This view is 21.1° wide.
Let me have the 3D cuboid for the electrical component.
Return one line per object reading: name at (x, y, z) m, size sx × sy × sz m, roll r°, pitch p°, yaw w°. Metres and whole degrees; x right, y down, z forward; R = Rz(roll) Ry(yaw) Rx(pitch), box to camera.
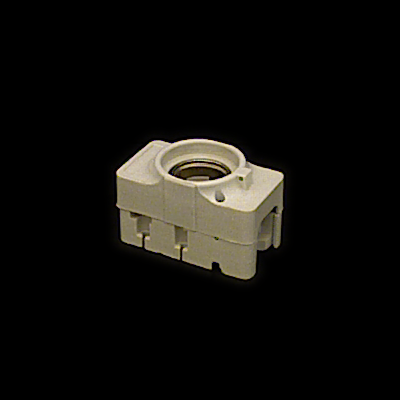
electrical component at (0.000, 0.000, 0.642) m, size 0.089 × 0.056 × 0.050 m, roll 15°, pitch 35°, yaw 22°
